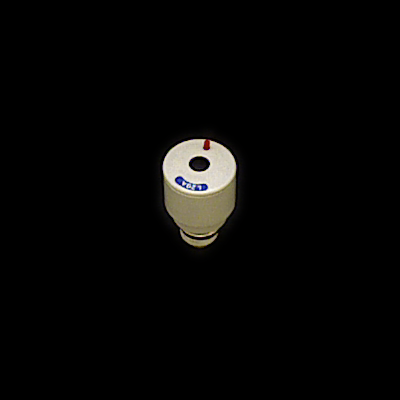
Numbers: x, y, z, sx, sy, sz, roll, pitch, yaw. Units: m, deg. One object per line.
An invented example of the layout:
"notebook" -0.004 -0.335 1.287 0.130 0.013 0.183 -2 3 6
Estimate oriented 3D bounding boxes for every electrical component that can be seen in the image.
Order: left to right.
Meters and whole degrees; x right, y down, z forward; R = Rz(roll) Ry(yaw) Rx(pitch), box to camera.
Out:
"electrical component" 0.000 0.000 0.622 0.040 0.040 0.079 0 -39 -1
